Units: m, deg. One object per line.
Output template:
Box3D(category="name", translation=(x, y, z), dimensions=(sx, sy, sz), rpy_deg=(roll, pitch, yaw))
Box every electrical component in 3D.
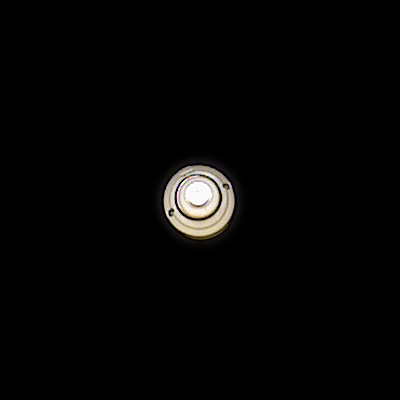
Box3D(category="electrical component", translation=(0.000, 0.000, 0.618), dimensions=(0.040, 0.040, 0.078), rpy_deg=(0, -5, 1))
